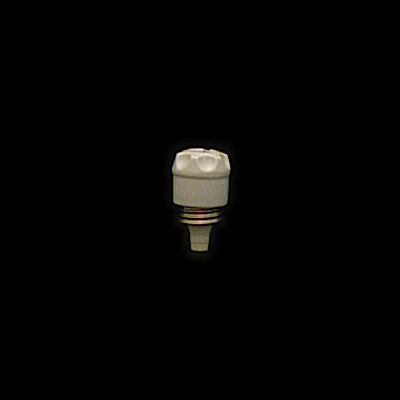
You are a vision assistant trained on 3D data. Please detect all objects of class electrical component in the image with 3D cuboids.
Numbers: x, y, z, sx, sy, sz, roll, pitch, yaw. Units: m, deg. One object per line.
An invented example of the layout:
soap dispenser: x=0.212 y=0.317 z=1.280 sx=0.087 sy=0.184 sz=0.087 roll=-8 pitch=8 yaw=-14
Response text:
electrical component: x=0.000 y=0.000 z=0.653 sx=0.035 sy=0.062 sz=0.035 roll=1 pitch=12 yaw=0
